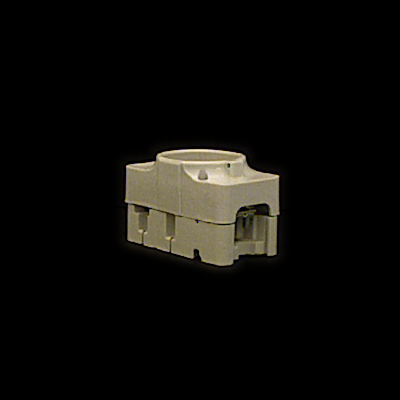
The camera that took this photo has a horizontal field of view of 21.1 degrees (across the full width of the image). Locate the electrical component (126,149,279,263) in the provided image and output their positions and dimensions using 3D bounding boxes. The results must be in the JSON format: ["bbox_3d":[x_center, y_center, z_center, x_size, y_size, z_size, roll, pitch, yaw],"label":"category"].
[{"bbox_3d":[0.000,0.000,0.651,0.050,0.056,0.088,-10,15,-43],"label":"electrical component"}]
